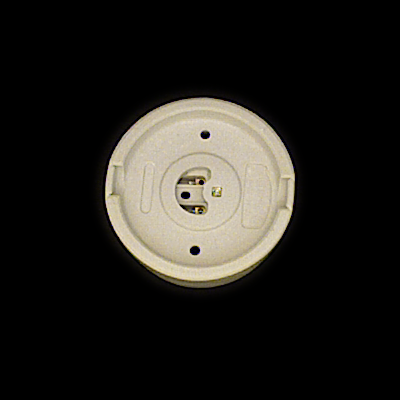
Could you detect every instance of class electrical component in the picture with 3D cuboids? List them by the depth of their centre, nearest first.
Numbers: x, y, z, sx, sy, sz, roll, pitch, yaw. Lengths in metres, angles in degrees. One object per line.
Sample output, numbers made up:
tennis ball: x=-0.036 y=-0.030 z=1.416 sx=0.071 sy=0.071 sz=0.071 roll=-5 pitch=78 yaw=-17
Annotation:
electrical component: x=0.000 y=0.000 z=0.634 sx=0.108 sy=0.108 sz=0.060 roll=0 pitch=-16 yaw=1
